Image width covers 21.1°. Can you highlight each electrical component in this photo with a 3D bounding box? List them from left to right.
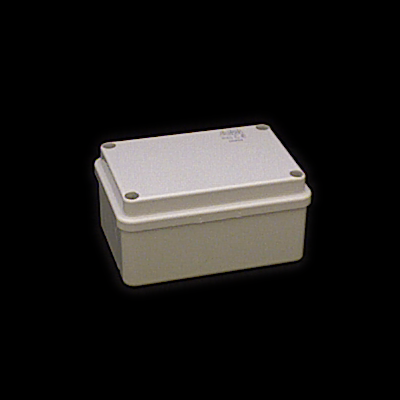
[{"bbox_3d":[0.000,0.000,0.636,0.113,0.058,0.077,-8,32,-14],"label":"electrical component"}]
